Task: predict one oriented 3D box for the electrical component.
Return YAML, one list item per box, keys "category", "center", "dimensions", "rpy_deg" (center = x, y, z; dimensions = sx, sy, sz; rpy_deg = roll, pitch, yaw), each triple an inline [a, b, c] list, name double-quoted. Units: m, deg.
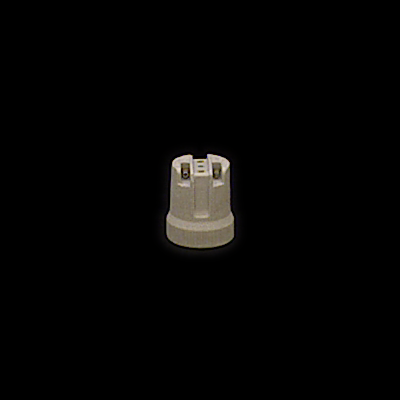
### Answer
- category: "electrical component"
  center: [0.000, 0.000, 0.640]
  dimensions: [0.040, 0.046, 0.040]
  rpy_deg: [1, 21, 0]
